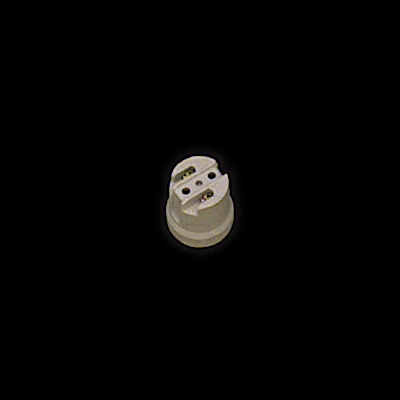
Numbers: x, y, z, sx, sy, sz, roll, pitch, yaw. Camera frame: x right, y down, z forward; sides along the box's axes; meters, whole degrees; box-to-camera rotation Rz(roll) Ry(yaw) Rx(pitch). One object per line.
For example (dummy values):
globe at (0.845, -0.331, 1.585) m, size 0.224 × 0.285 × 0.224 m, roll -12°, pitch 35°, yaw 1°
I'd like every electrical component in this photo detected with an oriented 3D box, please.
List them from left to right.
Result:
electrical component at (0.000, 0.000, 0.633) m, size 0.040 × 0.040 × 0.046 m, roll 0°, pitch -27°, yaw 0°
